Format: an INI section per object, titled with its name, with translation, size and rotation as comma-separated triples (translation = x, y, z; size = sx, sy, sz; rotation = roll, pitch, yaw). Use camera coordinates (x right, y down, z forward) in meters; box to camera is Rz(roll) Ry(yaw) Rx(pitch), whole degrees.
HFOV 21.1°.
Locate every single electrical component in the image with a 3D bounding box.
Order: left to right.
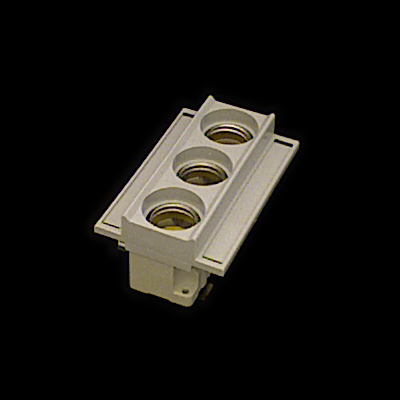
[electrical component]
translation = 0.000, 0.000, 0.643
size = 0.078, 0.064, 0.120
rotation = 18, 45, 16
